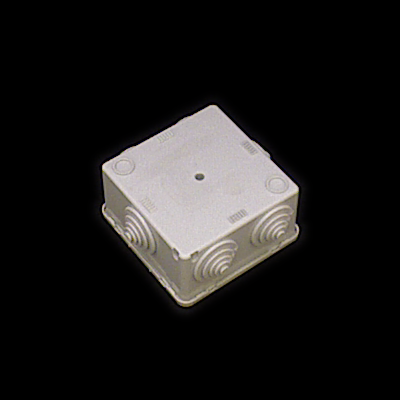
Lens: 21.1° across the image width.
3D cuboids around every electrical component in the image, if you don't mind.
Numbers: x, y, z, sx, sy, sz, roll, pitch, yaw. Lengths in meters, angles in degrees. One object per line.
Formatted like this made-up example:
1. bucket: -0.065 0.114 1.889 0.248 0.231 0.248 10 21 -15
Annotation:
1. electrical component: 0.000 0.000 0.632 0.100 0.099 0.049 -30 -31 -21
